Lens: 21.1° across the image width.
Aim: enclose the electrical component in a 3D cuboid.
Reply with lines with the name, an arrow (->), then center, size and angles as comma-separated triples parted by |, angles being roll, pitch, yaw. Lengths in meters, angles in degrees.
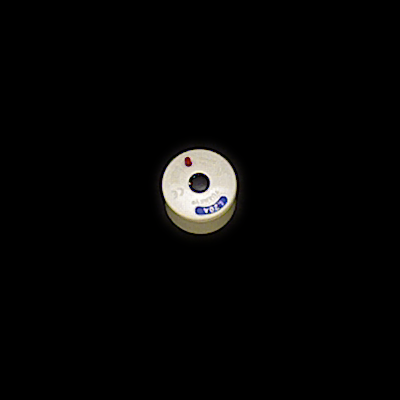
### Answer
electrical component -> 0.000, 0.000, 0.617 | 0.040, 0.040, 0.078 | 0, -17, 1
